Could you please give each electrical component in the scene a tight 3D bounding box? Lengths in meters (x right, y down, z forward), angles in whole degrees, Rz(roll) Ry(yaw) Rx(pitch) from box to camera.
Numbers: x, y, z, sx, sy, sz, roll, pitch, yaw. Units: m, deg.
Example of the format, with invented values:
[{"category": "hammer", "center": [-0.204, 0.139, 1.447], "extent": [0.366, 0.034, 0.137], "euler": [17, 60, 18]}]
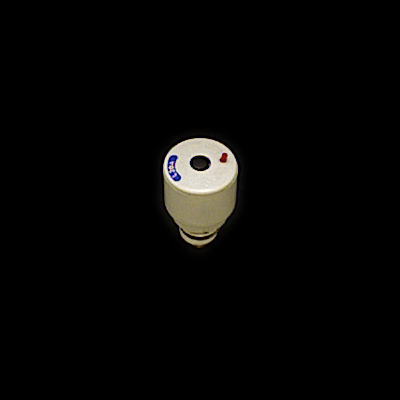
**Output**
[{"category": "electrical component", "center": [0.000, 0.000, 0.620], "extent": [0.040, 0.040, 0.079], "euler": [0, -38, -1]}]
